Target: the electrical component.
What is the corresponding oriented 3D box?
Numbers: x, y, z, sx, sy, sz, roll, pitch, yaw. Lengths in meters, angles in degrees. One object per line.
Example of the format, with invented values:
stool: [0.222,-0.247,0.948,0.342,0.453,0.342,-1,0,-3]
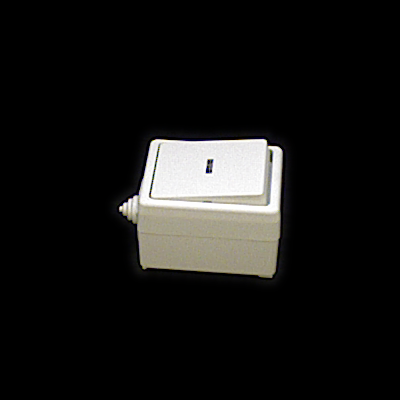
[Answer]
electrical component: [0.000,0.000,0.631,0.096,0.061,0.061,4,42,3]
